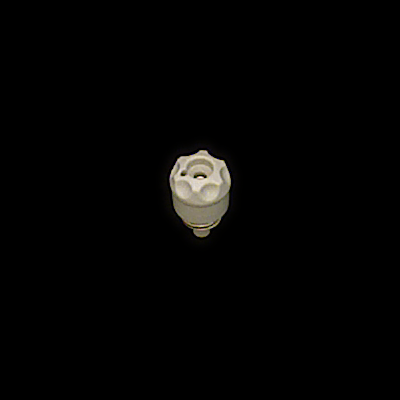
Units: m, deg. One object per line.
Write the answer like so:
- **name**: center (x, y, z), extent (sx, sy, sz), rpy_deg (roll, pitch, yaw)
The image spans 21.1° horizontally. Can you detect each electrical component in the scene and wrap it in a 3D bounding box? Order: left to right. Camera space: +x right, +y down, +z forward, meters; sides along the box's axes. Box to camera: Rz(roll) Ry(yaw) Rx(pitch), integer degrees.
- **electrical component**: center (0.000, 0.000, 0.635), extent (0.035, 0.035, 0.062), rpy_deg (0, -37, 1)
